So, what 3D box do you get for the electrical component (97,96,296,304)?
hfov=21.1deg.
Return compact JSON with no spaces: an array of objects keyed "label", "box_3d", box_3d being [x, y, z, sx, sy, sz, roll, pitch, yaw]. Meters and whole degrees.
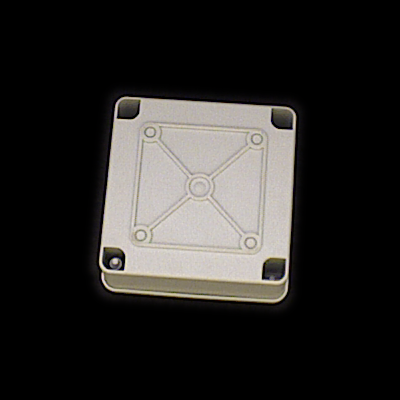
[{"label":"electrical component","box_3d":[0.000,0.000,0.627,0.109,0.109,0.056,4,-17,2]}]
